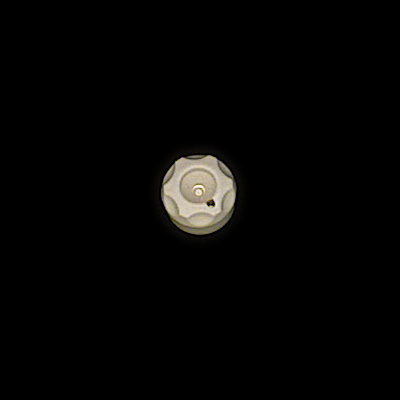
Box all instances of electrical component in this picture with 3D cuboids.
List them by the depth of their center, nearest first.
[{"bbox_3d":[0.000,0.000,0.634,0.043,0.043,0.061,0,-16,1],"label":"electrical component"}]
